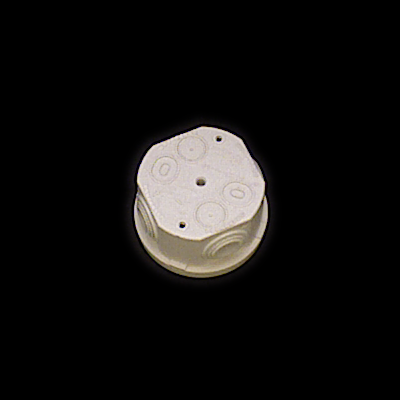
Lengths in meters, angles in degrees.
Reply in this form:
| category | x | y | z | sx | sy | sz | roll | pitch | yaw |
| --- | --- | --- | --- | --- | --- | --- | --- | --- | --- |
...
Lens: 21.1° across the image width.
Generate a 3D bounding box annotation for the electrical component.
| category | x | y | z | sx | sy | sz | roll | pitch | yaw |
| --- | --- | --- | --- | --- | --- | --- | --- | --- | --- |
| electrical component | 0.000 | 0.000 | 0.631 | 0.080 | 0.080 | 0.050 | 0 | -27 | 0 |
